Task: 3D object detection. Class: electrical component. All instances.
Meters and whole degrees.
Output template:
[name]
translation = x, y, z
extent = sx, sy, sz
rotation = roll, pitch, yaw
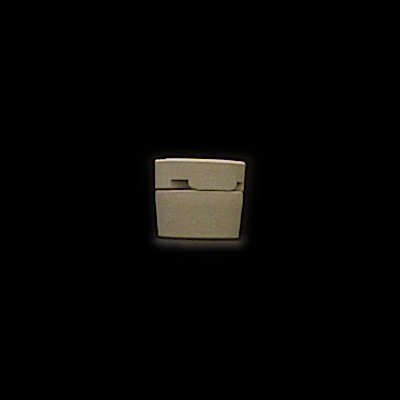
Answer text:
[electrical component]
translation = 0.000, 0.000, 0.651
extent = 0.055, 0.047, 0.055
rotation = 1, 1, 0
